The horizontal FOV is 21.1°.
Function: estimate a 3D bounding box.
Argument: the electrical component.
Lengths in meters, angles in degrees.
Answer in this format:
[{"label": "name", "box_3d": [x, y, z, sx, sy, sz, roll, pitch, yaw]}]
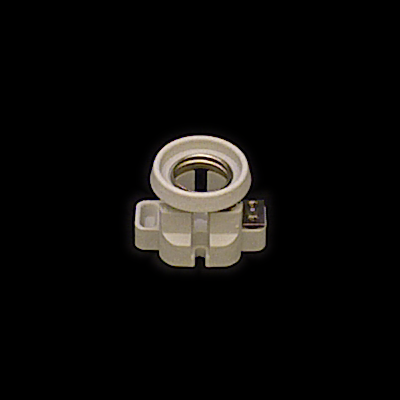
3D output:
[{"label": "electrical component", "box_3d": [0.000, 0.000, 0.632, 0.078, 0.057, 0.057, 1, 42, 0]}]
